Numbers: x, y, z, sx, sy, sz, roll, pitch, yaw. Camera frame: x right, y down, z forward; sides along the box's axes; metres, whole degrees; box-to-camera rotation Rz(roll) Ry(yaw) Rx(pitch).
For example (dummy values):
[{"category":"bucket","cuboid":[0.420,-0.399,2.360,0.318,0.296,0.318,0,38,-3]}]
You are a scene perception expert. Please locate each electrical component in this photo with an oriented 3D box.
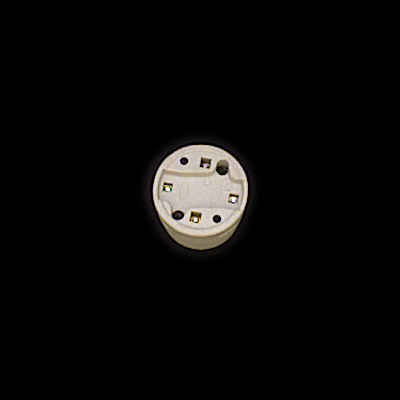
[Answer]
[{"category":"electrical component","cuboid":[0.000,0.000,0.635,0.055,0.056,0.047,0,-17,0]}]
